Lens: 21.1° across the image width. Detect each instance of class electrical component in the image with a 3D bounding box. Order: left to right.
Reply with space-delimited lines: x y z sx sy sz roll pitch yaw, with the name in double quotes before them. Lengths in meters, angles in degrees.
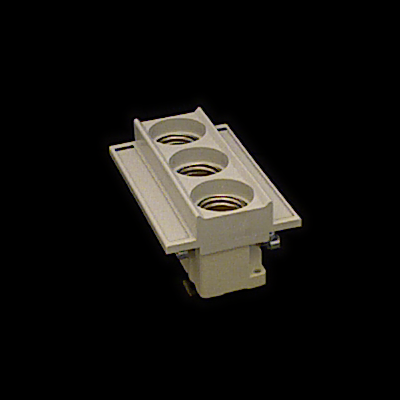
"electrical component" 0.000 0.000 0.645 0.079 0.064 0.119 -11 34 -15
